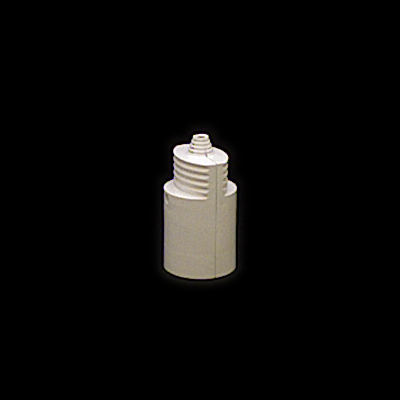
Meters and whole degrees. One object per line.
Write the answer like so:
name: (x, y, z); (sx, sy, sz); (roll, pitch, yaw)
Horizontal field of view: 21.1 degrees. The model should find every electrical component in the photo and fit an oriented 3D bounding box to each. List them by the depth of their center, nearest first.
electrical component: (0.000, 0.000, 0.636); (0.043, 0.082, 0.042); (1, 21, 0)
